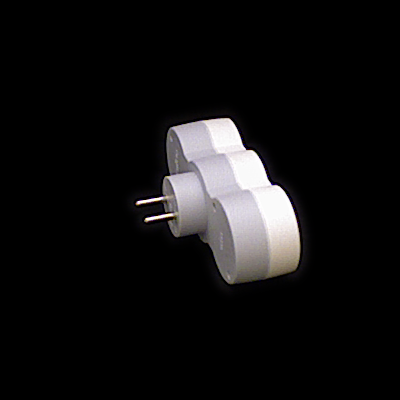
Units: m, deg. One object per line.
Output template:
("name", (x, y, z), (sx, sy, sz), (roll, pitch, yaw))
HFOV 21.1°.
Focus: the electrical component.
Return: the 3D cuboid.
("electrical component", (0.000, 0.000, 0.634), (0.074, 0.053, 0.137), (-11, 34, -15))
